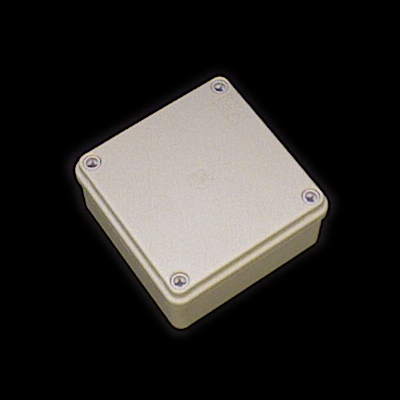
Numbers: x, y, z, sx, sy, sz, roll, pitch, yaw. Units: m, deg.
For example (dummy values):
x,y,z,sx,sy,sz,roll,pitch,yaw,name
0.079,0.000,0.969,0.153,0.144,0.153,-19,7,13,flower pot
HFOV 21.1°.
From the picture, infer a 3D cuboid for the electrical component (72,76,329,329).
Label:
x,y,z,sx,sy,sz,roll,pitch,yaw,name
0.000,0.000,0.628,0.109,0.108,0.056,-32,-23,-15,electrical component
